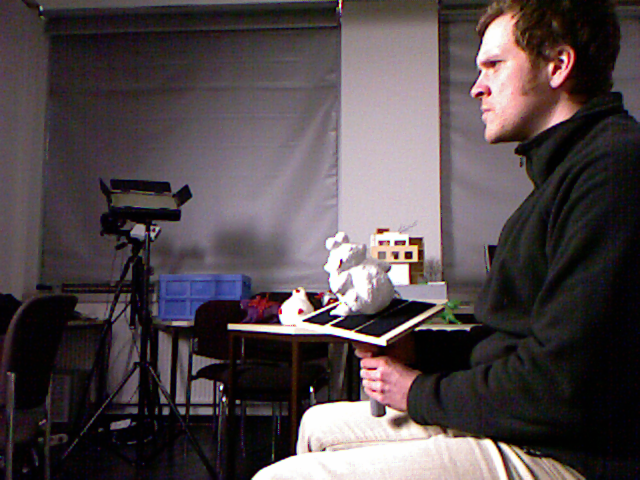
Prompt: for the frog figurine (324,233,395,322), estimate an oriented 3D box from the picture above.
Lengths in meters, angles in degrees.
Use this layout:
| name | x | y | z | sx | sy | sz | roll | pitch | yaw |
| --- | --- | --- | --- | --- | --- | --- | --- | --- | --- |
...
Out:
| name | x | y | z | sx | sy | sz | roll | pitch | yaw |
| --- | --- | --- | --- | --- | --- | --- | --- | --- | --- |
| frog figurine | 0.074 | 0.065 | 0.958 | 0.138 | 0.157 | 0.124 | -13 | 19 | -24 |
